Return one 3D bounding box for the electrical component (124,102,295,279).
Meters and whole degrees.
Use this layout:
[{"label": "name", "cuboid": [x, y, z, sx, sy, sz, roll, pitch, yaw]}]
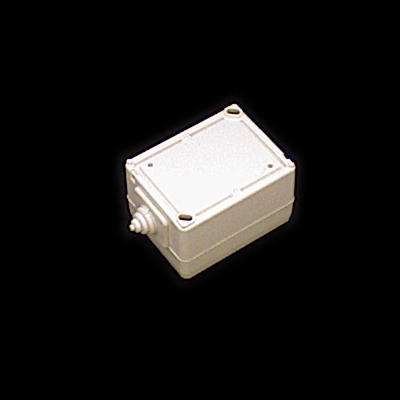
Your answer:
[{"label": "electrical component", "cuboid": [0.000, 0.000, 0.630, 0.096, 0.061, 0.061, -29, -32, -20]}]
